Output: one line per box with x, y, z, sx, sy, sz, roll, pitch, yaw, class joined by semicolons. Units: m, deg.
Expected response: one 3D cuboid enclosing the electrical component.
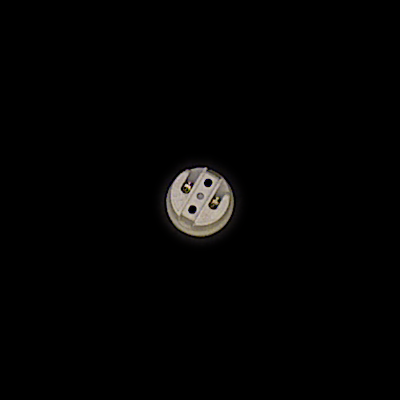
0.000;0.000;0.634;0.040;0.040;0.046;0;-6;0;electrical component
